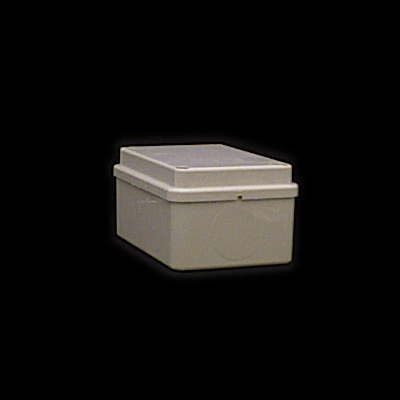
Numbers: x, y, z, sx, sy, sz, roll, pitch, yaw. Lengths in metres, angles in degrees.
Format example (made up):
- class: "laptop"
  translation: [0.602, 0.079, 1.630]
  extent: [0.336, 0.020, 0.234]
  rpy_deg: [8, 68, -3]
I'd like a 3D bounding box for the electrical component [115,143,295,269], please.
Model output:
- class: "electrical component"
  translation: [0.000, 0.000, 0.645]
  extent: [0.078, 0.057, 0.112]
  rpy_deg: [-3, 11, -22]
